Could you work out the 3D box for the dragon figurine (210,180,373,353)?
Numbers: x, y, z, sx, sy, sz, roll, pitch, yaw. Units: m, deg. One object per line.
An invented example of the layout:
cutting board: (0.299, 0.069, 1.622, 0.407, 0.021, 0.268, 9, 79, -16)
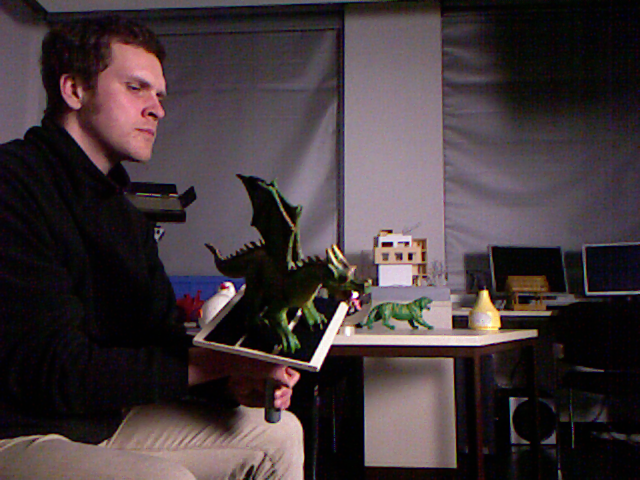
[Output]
dragon figurine: (-0.081, 0.017, 0.813, 0.124, 0.238, 0.415, -21, 34, -38)
